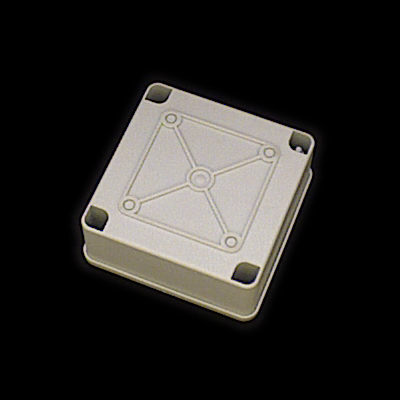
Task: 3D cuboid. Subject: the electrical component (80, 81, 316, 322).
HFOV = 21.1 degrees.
[{"bbox_3d":[0.000,0.000,0.629,0.108,0.109,0.056,20,-26,9],"label":"electrical component"}]
